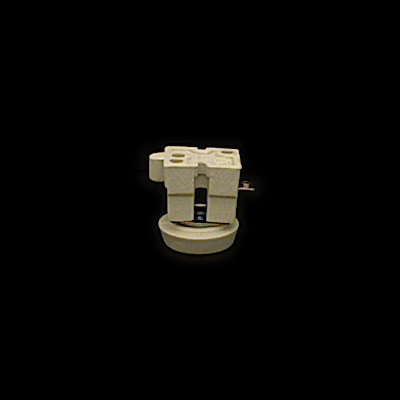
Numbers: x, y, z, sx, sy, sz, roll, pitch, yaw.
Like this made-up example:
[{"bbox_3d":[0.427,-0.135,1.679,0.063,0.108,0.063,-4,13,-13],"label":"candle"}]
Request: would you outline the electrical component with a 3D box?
[{"bbox_3d":[0.000,0.000,0.646,0.066,0.056,0.048,1,21,-2],"label":"electrical component"}]
